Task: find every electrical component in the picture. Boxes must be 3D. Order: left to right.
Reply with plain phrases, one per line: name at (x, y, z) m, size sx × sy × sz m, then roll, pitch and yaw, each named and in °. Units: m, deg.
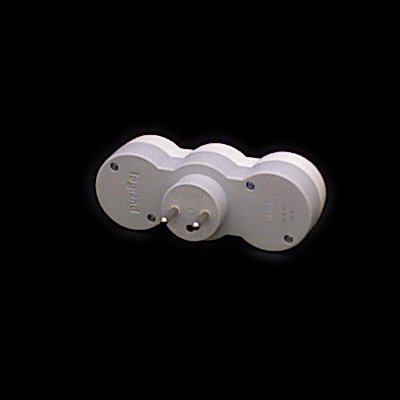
electrical component at (0.000, 0.000, 0.640) m, size 0.138 × 0.053 × 0.073 m, roll 9°, pitch 24°, yaw 17°
